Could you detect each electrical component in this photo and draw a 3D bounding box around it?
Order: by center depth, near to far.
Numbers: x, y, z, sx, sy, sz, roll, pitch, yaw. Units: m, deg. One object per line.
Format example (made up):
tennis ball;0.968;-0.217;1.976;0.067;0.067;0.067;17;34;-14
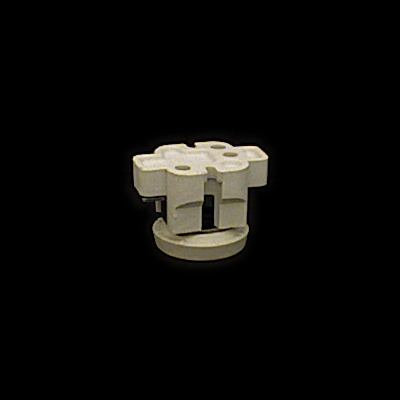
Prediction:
electrical component;0.000;0.000;0.644;0.079;0.057;0.057;-7;24;-16
